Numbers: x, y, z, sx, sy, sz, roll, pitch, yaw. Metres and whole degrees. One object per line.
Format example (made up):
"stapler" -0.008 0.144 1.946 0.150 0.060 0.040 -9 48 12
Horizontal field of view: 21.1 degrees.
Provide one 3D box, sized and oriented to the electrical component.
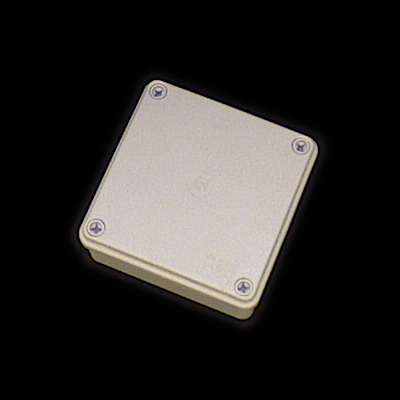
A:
"electrical component" 0.000 0.000 0.630 0.109 0.109 0.056 21 -16 6
